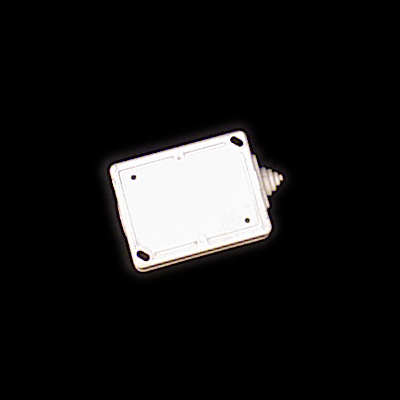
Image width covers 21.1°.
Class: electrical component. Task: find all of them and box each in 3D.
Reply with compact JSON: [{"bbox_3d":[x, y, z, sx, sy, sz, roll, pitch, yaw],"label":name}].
[{"bbox_3d":[0.000,0.000,0.629,0.096,0.062,0.061,-15,-6,-2],"label":"electrical component"}]
